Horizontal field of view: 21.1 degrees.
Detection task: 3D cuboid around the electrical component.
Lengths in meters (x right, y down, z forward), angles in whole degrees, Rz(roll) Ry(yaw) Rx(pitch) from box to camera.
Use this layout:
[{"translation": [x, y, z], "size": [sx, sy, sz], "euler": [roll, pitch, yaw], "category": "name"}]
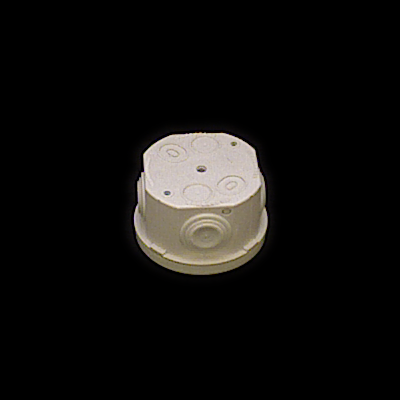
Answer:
[{"translation": [0.000, 0.000, 0.635], "size": [0.080, 0.051, 0.079], "euler": [1, 42, 0], "category": "electrical component"}]
